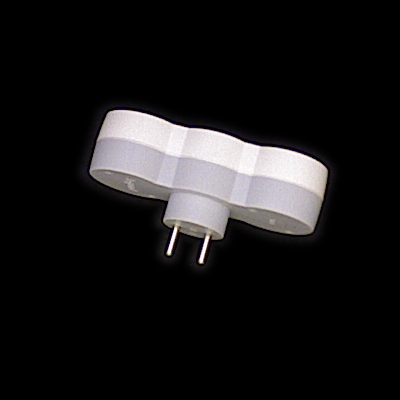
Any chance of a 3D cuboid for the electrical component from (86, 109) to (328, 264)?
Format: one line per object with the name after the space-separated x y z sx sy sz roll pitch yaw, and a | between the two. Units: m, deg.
0.000 0.000 0.631 0.138 0.074 0.052 15 -14 4 | electrical component
